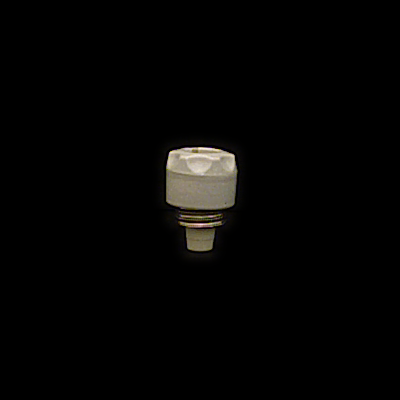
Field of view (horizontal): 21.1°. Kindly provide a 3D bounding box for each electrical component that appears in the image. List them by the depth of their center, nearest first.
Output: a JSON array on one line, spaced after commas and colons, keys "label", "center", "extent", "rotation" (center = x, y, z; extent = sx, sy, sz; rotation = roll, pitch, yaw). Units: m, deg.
[{"label": "electrical component", "center": [0.000, 0.000, 0.650], "extent": [0.043, 0.062, 0.043], "rotation": [2, 13, 0]}]
